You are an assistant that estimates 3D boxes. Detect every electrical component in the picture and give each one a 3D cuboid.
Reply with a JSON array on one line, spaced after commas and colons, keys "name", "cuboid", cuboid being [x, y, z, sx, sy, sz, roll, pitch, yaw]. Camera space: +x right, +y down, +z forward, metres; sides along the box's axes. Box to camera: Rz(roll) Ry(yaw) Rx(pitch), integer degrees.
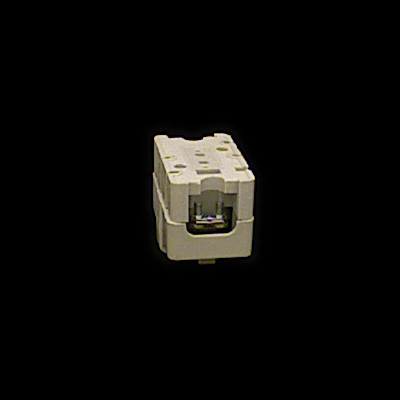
[{"name": "electrical component", "cuboid": [0.000, 0.000, 0.647, 0.050, 0.056, 0.088, -2, 22, -9]}]
